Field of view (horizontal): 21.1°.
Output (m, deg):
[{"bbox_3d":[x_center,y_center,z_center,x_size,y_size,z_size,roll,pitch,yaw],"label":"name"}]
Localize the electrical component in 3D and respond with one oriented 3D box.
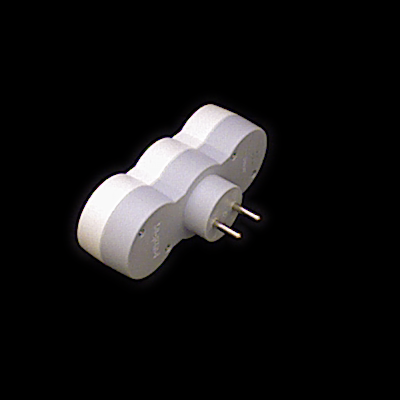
[{"bbox_3d":[0.000,0.000,0.636,0.073,0.052,0.137,29,48,25],"label":"electrical component"}]
